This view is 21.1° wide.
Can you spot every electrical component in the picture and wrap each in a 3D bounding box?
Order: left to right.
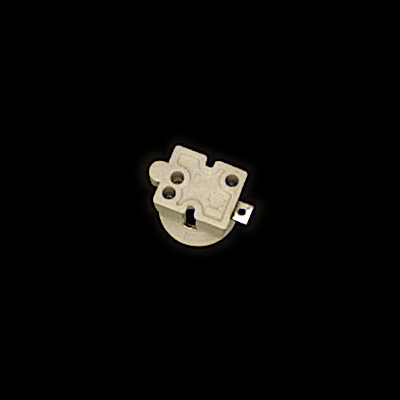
[{"bbox_3d":[0.000,0.000,0.637,0.066,0.049,0.055,21,-16,5],"label":"electrical component"}]
